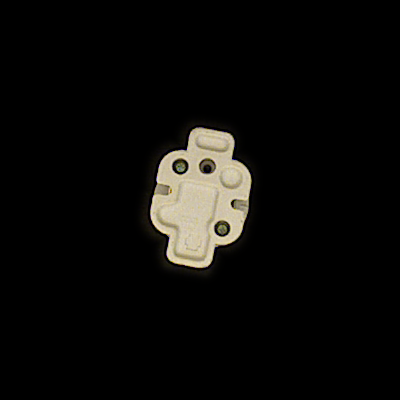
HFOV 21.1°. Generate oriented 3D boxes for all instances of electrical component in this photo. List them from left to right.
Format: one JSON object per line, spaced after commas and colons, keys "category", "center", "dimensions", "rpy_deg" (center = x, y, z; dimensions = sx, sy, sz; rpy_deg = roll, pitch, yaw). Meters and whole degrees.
{"category": "electrical component", "center": [0.000, 0.000, 0.637], "dimensions": [0.058, 0.078, 0.056], "rpy_deg": [10, -4, 1]}
